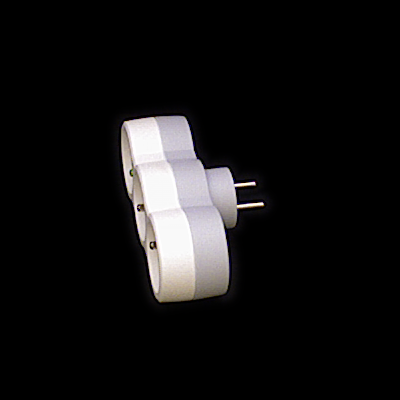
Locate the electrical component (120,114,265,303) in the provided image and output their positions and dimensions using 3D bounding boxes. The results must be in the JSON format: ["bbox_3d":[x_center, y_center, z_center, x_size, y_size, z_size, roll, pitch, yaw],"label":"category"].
[{"bbox_3d":[0.000,0.000,0.636,0.074,0.052,0.137,-7,42,-11],"label":"electrical component"}]
